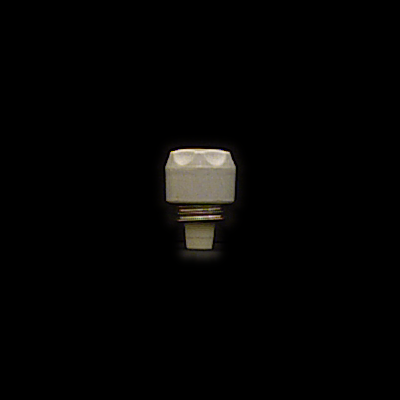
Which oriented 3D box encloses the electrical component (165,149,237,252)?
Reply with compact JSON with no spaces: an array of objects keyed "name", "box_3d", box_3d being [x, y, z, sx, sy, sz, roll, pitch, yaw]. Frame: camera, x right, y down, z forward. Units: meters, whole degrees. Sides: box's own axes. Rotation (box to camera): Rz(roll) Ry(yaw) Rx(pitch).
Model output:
[{"name":"electrical component","box_3d":[0.000,0.000,0.655,0.043,0.062,0.043,1,2,1]}]
